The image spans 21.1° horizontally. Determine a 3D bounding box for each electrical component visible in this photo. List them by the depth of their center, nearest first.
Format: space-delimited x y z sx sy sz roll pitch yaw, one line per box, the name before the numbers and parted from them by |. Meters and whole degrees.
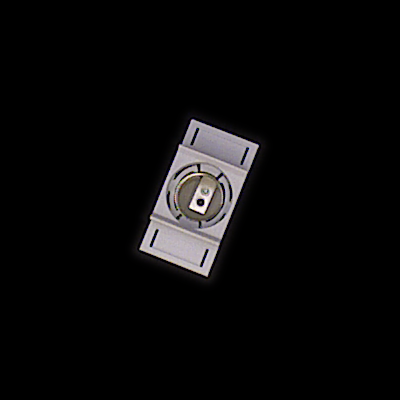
electrical component | 0.000 0.000 0.625 0.042 0.081 0.063 22 -5 3
